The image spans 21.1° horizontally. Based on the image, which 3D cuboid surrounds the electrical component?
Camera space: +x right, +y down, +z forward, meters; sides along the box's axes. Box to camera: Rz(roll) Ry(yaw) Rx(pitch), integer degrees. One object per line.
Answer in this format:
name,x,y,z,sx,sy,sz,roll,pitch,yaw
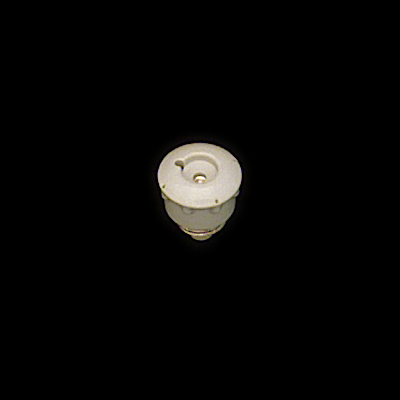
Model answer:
electrical component,0.000,0.000,0.633,0.048,0.048,0.062,0,-37,0
